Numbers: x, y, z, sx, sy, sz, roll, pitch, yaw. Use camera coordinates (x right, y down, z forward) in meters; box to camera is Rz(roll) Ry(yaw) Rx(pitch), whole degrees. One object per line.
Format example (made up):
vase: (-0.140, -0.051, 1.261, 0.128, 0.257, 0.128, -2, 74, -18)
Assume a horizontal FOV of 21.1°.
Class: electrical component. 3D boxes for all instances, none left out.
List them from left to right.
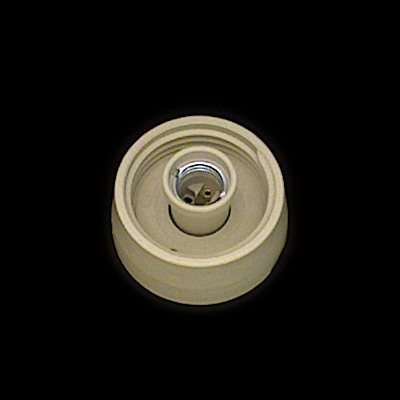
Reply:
electrical component: (0.000, 0.000, 0.634, 0.108, 0.108, 0.060, 0, -27, 0)
